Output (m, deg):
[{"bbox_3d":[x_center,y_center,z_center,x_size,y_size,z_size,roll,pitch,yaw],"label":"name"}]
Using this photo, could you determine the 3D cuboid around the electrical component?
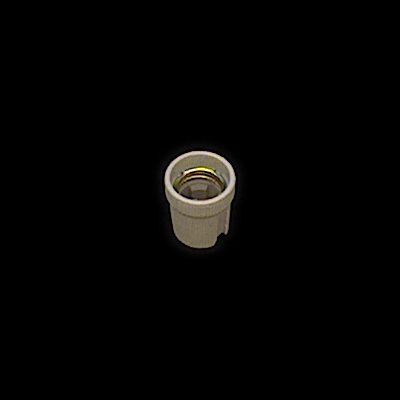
[{"bbox_3d":[0.000,0.000,0.631,0.040,0.039,0.047,0,-38,-1],"label":"electrical component"}]
